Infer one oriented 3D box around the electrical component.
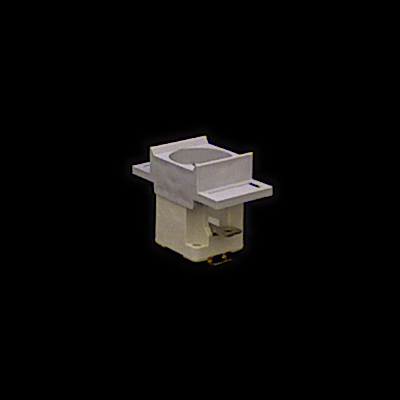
[{"bbox_3d":[0.000,0.000,0.636,0.042,0.064,0.080,-14,25,-36],"label":"electrical component"}]
